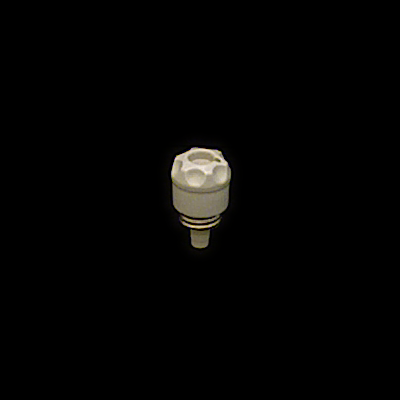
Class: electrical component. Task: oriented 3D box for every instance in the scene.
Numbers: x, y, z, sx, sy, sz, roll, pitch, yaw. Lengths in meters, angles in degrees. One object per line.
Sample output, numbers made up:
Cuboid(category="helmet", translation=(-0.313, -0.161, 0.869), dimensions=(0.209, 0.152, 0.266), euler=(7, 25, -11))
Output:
Cuboid(category="electrical component", translation=(0.000, 0.000, 0.640), dimensions=(0.035, 0.062, 0.034), euler=(1, 33, 0))
